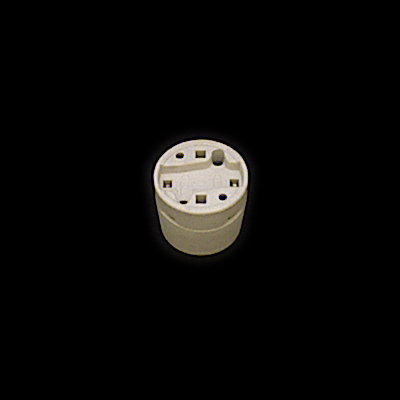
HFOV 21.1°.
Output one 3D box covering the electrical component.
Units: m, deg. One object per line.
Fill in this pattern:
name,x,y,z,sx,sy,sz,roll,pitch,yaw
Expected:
electrical component,0.000,0.000,0.634,0.055,0.055,0.047,0,-38,-1
